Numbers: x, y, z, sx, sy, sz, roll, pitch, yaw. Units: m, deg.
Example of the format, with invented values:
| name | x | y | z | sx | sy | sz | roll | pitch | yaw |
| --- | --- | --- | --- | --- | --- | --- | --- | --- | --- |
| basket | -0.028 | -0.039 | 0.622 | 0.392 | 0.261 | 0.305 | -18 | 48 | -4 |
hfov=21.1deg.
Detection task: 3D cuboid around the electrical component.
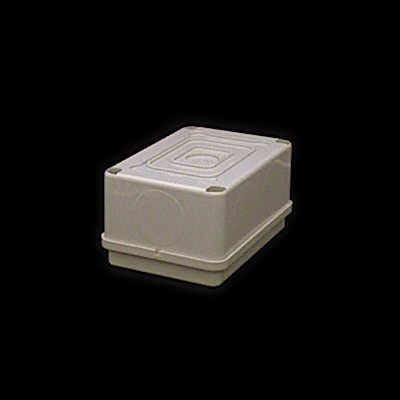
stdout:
| name | x | y | z | sx | sy | sz | roll | pitch | yaw |
| --- | --- | --- | --- | --- | --- | --- | --- | --- | --- |
| electrical component | 0.000 | 0.000 | 0.639 | 0.078 | 0.058 | 0.112 | 11 | 23 | 23 |
